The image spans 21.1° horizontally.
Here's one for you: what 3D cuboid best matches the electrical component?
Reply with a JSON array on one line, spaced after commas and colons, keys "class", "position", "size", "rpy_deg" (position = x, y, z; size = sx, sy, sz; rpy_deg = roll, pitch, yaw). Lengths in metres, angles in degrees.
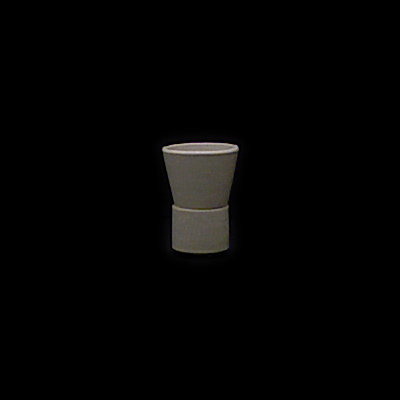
[{"class": "electrical component", "position": [0.000, 0.000, 0.642], "size": [0.044, 0.066, 0.044], "rpy_deg": [0, 12, 0]}]
